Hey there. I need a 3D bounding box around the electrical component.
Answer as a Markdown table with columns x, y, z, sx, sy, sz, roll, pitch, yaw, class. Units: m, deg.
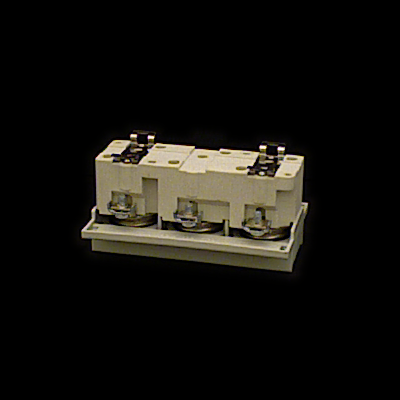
| x | y | z | sx | sy | sz | roll | pitch | yaw | class |
| --- | --- | --- | --- | --- | --- | --- | --- | --- | --- |
| 0.000 | 0.000 | 0.642 | 0.121 | 0.064 | 0.078 | 5 | 23 | 11 | electrical component |
